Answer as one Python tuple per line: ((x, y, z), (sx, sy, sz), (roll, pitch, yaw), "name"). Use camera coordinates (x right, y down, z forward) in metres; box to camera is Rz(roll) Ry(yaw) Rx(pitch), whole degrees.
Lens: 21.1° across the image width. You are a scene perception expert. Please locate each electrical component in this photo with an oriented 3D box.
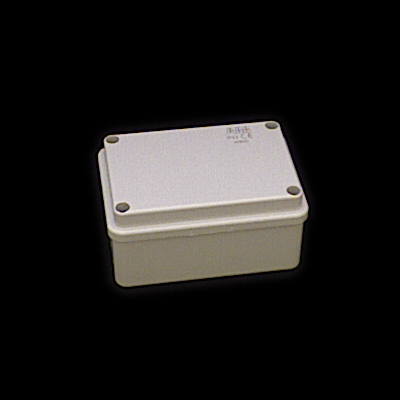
((0.000, 0.000, 0.633), (0.113, 0.057, 0.077), (-6, 42, -7), "electrical component")
